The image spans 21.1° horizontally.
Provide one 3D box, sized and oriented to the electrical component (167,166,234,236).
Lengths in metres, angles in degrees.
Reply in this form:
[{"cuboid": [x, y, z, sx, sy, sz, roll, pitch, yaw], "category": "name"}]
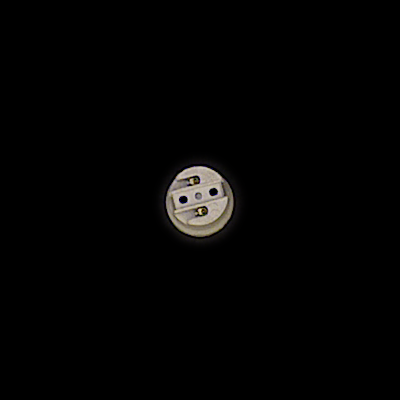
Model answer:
[{"cuboid": [0.000, 0.000, 0.634, 0.040, 0.040, 0.046, 0, -7, 0], "category": "electrical component"}]
